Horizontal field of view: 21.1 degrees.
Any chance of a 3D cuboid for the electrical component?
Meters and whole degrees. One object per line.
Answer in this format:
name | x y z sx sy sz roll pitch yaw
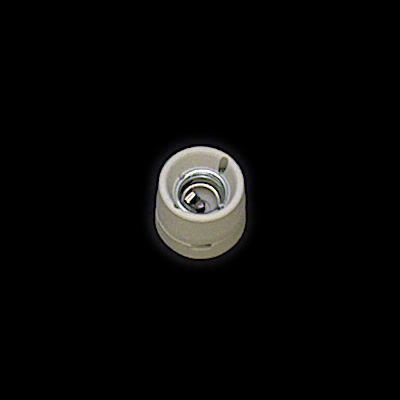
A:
electrical component | 0.000 0.000 0.633 0.055 0.055 0.047 0 -28 -1
